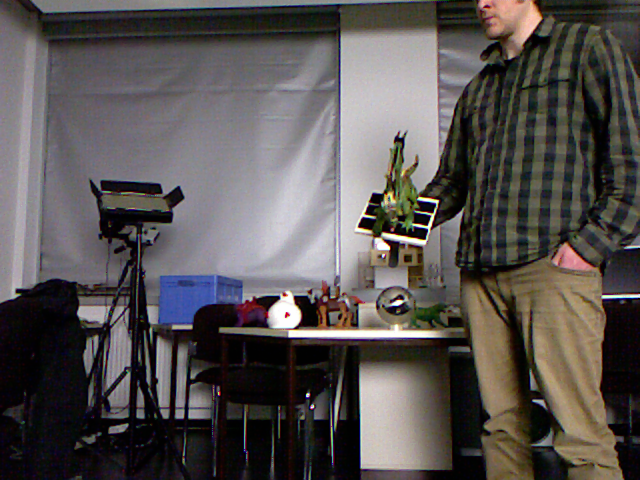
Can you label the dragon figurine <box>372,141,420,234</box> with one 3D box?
[{"bbox_3d":[0.225,-0.166,1.429,0.122,0.421,0.237,9,-40,11],"label":"dragon figurine"}]
